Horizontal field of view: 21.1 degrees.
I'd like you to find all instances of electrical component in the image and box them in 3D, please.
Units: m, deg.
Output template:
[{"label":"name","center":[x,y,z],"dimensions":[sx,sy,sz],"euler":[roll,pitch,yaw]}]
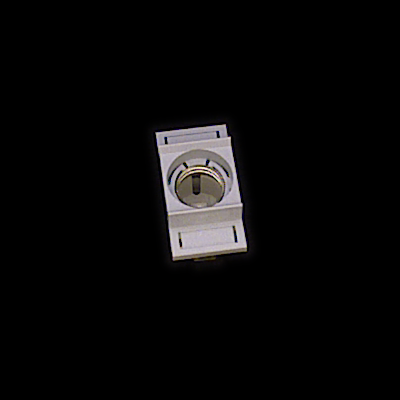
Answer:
[{"label":"electrical component","center":[0.000,0.000,0.623],"dimensions":[0.042,0.081,0.063],"euler":[-6,-27,-4]}]
